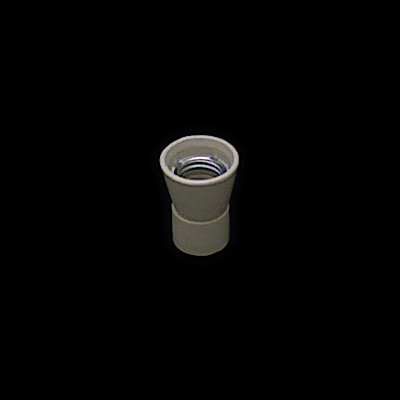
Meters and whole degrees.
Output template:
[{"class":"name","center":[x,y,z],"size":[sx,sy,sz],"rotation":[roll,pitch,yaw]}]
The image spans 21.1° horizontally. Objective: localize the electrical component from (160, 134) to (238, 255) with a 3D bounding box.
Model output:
[{"class":"electrical component","center":[0.000,0.000,0.629],"size":[0.044,0.066,0.044],"rotation":[0,42,1]}]
